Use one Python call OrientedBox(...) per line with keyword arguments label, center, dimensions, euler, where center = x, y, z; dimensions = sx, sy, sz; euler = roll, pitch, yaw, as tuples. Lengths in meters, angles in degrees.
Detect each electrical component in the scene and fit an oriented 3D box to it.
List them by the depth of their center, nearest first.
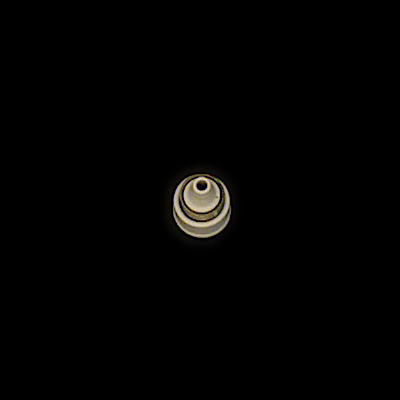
OrientedBox(label="electrical component", center=(0.000, 0.000, 0.637), dimensions=(0.035, 0.035, 0.061), euler=(0, -17, 0))
